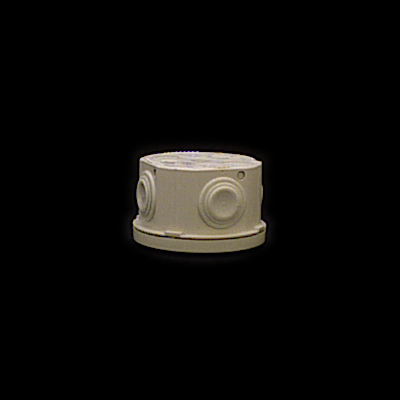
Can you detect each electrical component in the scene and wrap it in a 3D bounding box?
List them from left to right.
[{"bbox_3d":[0.000,0.000,0.644,0.080,0.051,0.079,1,11,0],"label":"electrical component"}]
